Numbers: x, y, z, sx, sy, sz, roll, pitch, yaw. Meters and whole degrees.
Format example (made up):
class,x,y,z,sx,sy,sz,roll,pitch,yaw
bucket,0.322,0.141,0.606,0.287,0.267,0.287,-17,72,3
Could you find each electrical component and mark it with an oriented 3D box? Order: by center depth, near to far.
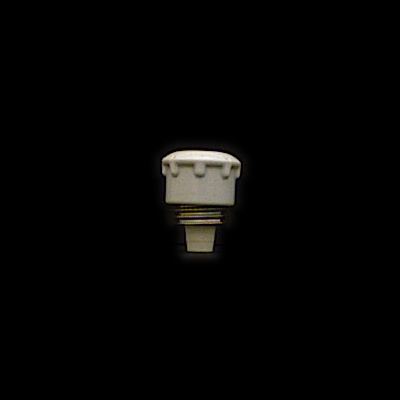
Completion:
class,x,y,z,sx,sy,sz,roll,pitch,yaw
electrical component,0.000,0.000,0.656,0.048,0.062,0.048,2,2,1
